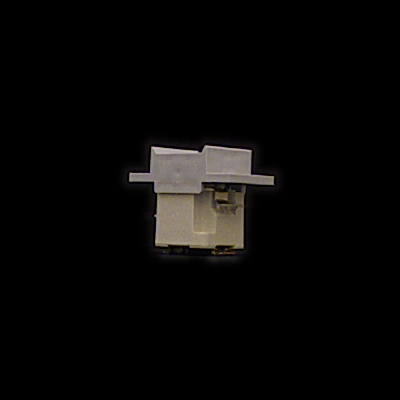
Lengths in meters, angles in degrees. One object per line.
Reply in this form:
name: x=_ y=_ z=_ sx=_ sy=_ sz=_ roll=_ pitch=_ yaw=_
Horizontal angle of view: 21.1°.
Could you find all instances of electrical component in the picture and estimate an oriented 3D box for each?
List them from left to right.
electrical component: x=0.000 y=0.000 z=0.651 sx=0.080 sy=0.064 sz=0.042 roll=2 pitch=2 yaw=42
